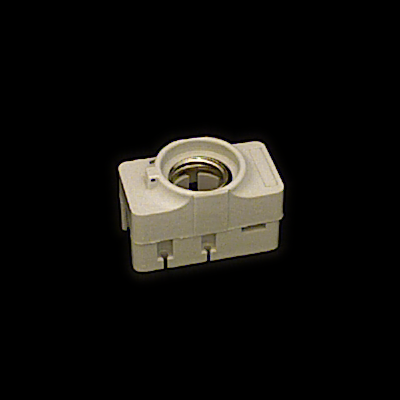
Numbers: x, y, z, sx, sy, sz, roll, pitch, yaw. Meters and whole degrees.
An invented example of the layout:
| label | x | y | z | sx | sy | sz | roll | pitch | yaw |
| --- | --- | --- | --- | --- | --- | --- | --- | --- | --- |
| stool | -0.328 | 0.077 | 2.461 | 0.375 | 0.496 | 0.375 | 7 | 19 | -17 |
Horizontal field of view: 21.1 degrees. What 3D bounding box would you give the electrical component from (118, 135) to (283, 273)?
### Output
| label | x | y | z | sx | sy | sz | roll | pitch | yaw |
| --- | --- | --- | --- | --- | --- | --- | --- | --- | --- |
| electrical component | 0.000 | 0.000 | 0.640 | 0.090 | 0.056 | 0.049 | -10 | 43 | -12 |
